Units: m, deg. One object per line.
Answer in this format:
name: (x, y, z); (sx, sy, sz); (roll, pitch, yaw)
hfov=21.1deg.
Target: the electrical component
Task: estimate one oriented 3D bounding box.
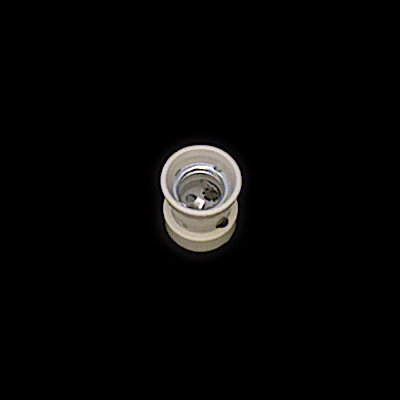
electrical component: (0.000, 0.000, 0.629); (0.045, 0.045, 0.055); (0, -27, -1)
